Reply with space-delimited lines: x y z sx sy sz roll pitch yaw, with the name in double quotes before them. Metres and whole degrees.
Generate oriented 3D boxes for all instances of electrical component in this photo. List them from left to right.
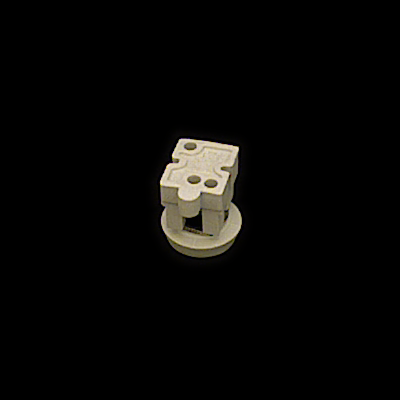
"electrical component" 0.000 0.000 0.639 0.048 0.056 0.066 9 42 11
